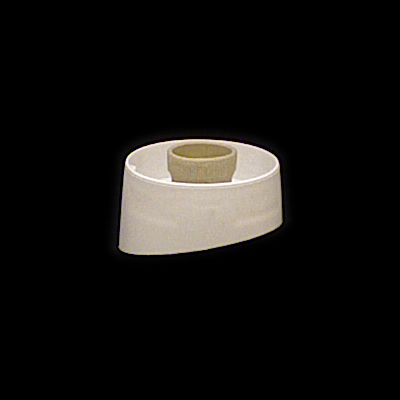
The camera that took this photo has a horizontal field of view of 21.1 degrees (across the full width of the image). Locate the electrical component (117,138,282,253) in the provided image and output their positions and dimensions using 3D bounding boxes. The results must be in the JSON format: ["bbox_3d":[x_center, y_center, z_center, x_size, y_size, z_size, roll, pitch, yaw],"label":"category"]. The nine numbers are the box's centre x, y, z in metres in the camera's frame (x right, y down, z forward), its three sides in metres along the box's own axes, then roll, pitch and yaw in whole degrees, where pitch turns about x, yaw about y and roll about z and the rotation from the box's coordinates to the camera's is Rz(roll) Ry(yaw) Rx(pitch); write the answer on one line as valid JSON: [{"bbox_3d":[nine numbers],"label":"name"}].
[{"bbox_3d":[0.000,0.000,0.638,0.099,0.065,0.097,1,20,0],"label":"electrical component"}]
